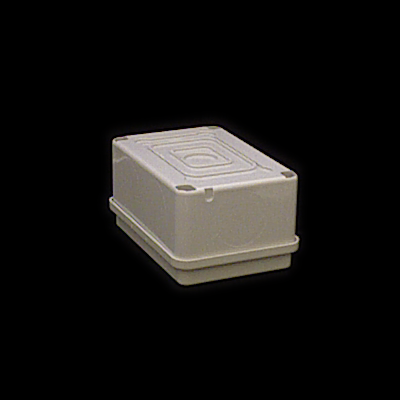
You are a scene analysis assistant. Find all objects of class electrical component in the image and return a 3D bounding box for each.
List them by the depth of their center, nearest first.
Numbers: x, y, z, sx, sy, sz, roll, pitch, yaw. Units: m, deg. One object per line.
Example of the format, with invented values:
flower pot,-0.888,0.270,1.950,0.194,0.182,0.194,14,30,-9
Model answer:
electrical component,0.000,0.000,0.639,0.078,0.058,0.111,-9,22,-23
